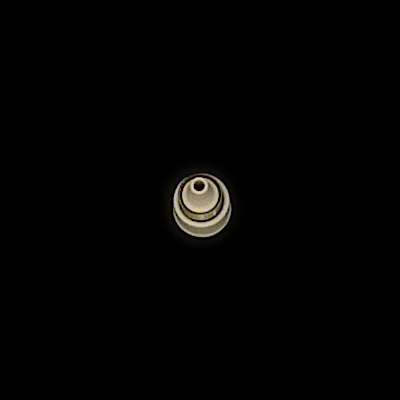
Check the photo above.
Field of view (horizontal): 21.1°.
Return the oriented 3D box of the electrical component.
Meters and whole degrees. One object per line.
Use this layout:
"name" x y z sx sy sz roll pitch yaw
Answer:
"electrical component" 0.000 0.000 0.636 0.035 0.035 0.061 0 -17 3
